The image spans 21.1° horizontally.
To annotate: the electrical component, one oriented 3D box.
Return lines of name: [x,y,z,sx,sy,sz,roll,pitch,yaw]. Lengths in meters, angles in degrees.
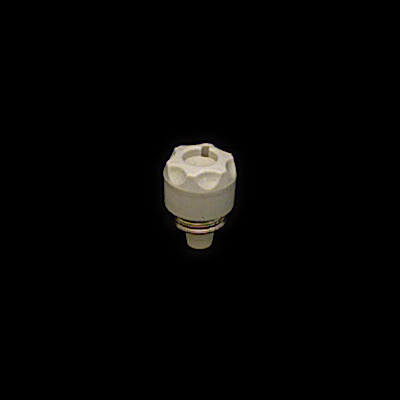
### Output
electrical component: [0.000,0.000,0.641,0.043,0.063,0.043,1,33,0]
